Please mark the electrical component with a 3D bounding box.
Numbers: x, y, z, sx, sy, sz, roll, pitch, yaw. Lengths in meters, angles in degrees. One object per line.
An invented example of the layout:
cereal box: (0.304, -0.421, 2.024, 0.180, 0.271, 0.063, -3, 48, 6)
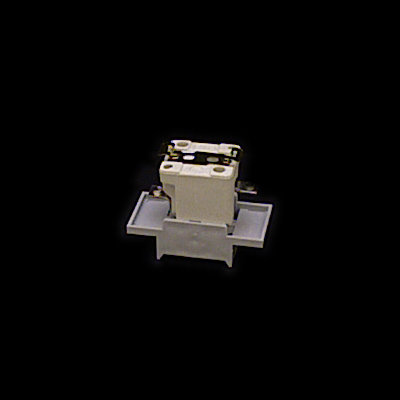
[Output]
electrical component: (0.000, 0.000, 0.633, 0.081, 0.064, 0.041, 6, 32, 8)
